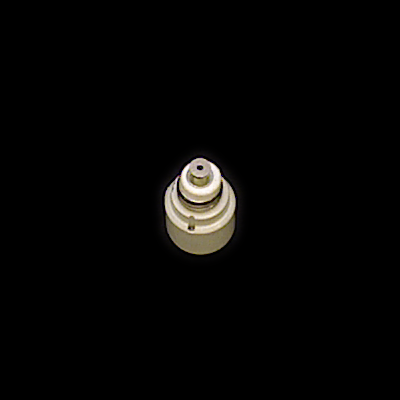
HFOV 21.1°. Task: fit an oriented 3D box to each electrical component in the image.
[{"bbox_3d":[0.000,0.000,0.619,0.040,0.040,0.078,0,-26,0],"label":"electrical component"}]
